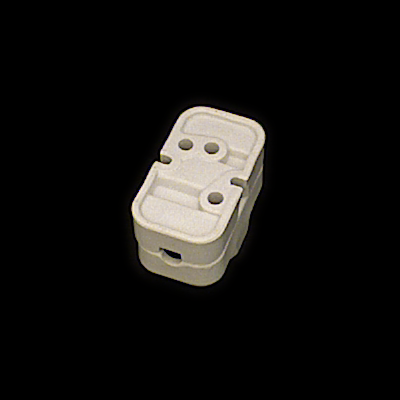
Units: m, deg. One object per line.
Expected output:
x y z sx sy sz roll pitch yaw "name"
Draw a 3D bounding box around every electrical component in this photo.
0.000 0.000 0.635 0.053 0.095 0.059 17 -35 13 "electrical component"
